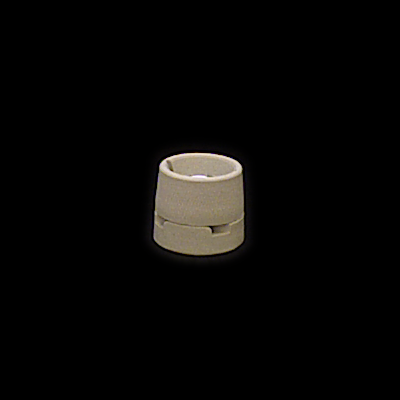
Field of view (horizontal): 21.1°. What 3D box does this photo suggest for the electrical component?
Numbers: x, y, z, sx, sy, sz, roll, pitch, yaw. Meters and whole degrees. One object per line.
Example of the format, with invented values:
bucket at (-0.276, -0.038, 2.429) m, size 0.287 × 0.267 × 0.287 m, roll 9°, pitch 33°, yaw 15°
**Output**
electrical component at (0.000, 0.000, 0.641) m, size 0.055 × 0.047 × 0.055 m, roll 2°, pitch 22°, yaw -1°
